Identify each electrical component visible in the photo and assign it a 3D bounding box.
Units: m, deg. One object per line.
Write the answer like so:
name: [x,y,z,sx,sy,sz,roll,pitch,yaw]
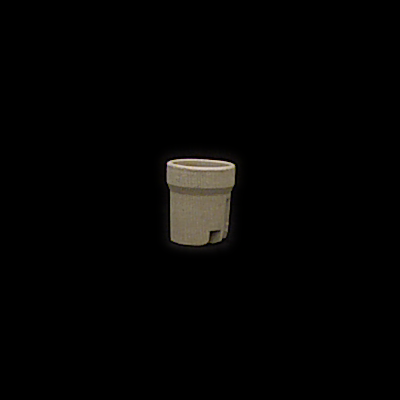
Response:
electrical component: [0.000,0.000,0.643,0.040,0.046,0.040,1,11,0]
